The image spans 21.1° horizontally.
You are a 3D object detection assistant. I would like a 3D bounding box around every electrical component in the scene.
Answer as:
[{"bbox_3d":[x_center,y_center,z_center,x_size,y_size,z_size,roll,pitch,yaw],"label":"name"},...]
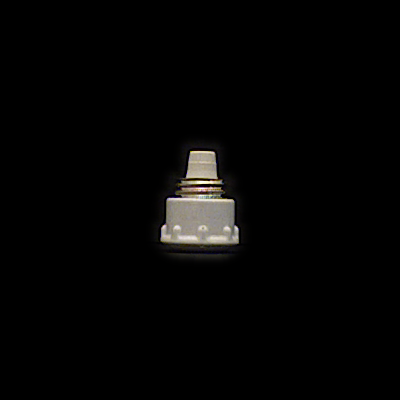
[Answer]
[{"bbox_3d":[0.000,0.000,0.658,0.048,0.062,0.048,2,1,1],"label":"electrical component"}]
